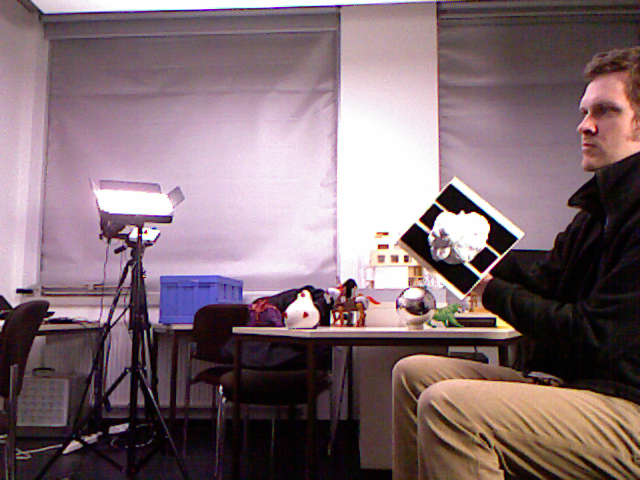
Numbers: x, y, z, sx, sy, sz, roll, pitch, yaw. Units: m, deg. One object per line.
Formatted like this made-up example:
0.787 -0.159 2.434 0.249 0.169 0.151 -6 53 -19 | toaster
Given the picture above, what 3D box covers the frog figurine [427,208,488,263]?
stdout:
0.302 -0.009 1.125 0.137 0.124 0.160 -27 -6 11 | frog figurine
